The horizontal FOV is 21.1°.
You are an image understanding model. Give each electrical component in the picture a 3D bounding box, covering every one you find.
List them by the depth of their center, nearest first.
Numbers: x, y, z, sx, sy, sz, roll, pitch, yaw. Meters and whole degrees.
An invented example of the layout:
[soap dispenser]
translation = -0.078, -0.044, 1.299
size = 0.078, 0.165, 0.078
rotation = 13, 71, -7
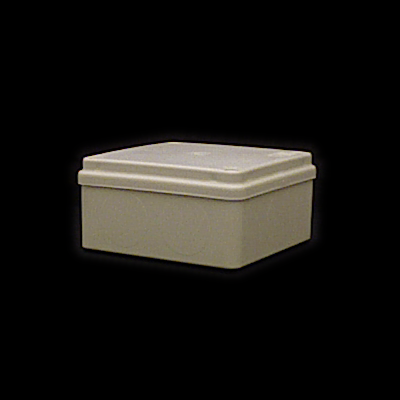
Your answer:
[electrical component]
translation = 0.000, 0.000, 0.644
size = 0.108, 0.056, 0.108
rotation = 6, 11, 29
